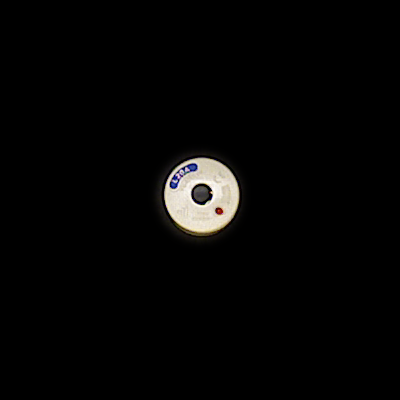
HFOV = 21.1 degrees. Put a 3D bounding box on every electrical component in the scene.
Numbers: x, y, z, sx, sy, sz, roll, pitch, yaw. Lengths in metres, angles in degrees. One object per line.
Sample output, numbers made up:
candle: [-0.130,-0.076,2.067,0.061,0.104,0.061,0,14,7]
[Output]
electrical component: [0.000,0.000,0.617,0.040,0.040,0.078,0,-5,0]
